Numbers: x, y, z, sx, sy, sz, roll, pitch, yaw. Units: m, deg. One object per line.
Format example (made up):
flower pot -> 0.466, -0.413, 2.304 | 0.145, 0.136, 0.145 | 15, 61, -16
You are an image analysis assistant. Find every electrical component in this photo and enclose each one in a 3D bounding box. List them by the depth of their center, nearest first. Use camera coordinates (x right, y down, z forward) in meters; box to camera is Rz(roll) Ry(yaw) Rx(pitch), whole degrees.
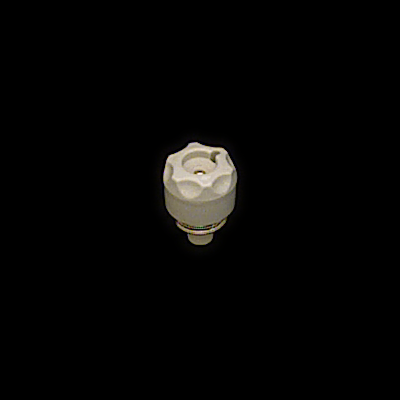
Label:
electrical component -> 0.000, 0.000, 0.637 | 0.043, 0.062, 0.043 | 0, 43, 0
